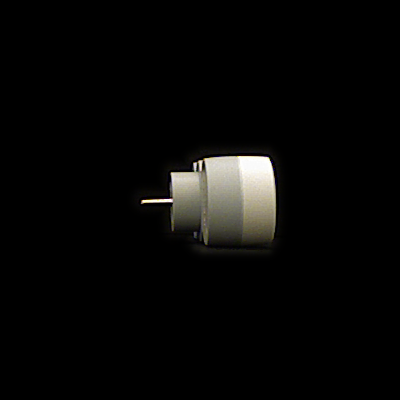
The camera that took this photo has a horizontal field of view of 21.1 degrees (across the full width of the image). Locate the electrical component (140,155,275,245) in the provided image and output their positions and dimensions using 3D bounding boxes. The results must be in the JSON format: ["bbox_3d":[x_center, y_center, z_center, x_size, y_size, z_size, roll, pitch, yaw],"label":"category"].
[{"bbox_3d":[0.000,0.000,0.658,0.074,0.052,0.137,0,1,-4],"label":"electrical component"}]
